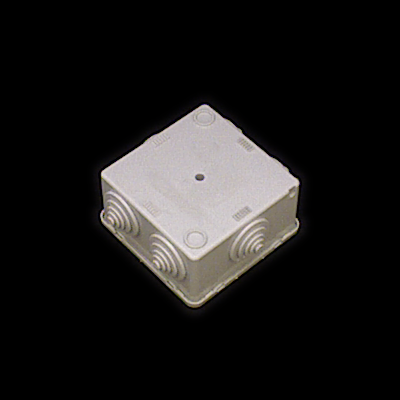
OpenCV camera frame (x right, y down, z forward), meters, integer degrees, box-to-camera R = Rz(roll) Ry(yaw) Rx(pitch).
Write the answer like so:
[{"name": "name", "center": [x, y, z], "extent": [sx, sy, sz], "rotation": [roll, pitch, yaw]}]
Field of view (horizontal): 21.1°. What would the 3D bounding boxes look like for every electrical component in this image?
[{"name": "electrical component", "center": [0.000, 0.000, 0.632], "extent": [0.100, 0.049, 0.099], "rotation": [-35, 61, -24]}]
